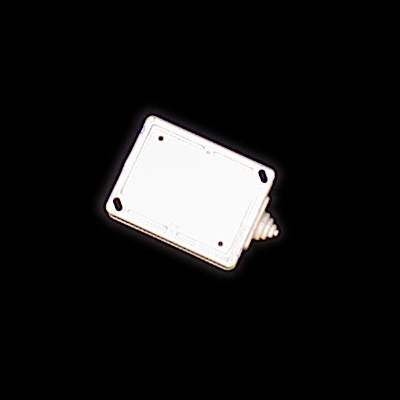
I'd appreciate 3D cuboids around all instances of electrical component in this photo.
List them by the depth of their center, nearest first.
[{"bbox_3d":[0.000,0.000,0.629,0.096,0.062,0.061,24,-6,2],"label":"electrical component"}]
